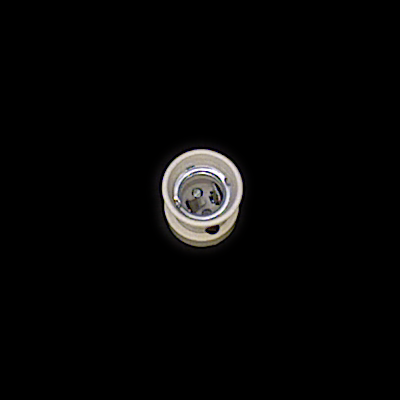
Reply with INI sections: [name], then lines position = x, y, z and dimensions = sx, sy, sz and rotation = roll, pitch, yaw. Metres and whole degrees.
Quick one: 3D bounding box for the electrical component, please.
[electrical component]
position = 0.000, 0.000, 0.628
dimensions = 0.045, 0.045, 0.055
rotation = 0, -17, 0
